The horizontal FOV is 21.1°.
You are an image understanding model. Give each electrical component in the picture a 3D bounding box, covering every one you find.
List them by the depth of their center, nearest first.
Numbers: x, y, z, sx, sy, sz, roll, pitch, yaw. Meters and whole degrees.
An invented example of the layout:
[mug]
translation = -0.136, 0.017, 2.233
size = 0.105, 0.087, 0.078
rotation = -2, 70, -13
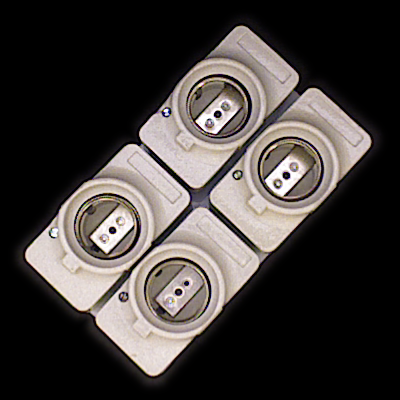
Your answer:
[electrical component]
translation = 0.000, 0.000, 0.626
size = 0.105, 0.187, 0.060
rotation = 42, -5, 4
